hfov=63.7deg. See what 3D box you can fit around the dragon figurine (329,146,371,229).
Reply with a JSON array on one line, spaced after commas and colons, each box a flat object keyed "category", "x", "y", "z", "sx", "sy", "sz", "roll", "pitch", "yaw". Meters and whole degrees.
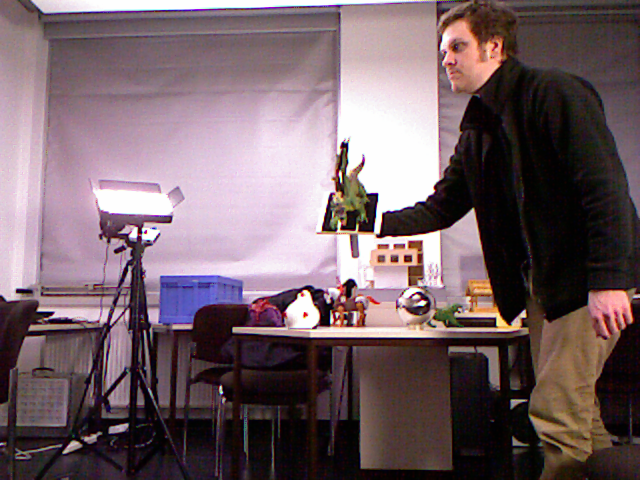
[{"category": "dragon figurine", "x": 0.092, "y": -0.189, "z": 1.619, "sx": 0.122, "sy": 0.421, "sz": 0.237, "roll": 2, "pitch": -42, "yaw": 10}]
